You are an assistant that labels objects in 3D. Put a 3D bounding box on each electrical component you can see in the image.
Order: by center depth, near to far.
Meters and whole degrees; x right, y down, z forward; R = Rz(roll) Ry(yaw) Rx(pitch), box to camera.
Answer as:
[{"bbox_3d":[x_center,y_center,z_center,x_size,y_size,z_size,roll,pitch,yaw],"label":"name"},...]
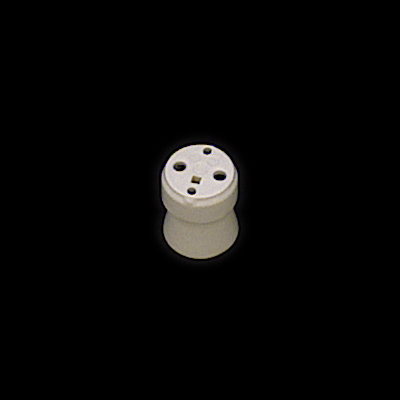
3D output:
[{"bbox_3d":[0.000,0.000,0.630,0.045,0.044,0.055,0,-38,0],"label":"electrical component"}]
